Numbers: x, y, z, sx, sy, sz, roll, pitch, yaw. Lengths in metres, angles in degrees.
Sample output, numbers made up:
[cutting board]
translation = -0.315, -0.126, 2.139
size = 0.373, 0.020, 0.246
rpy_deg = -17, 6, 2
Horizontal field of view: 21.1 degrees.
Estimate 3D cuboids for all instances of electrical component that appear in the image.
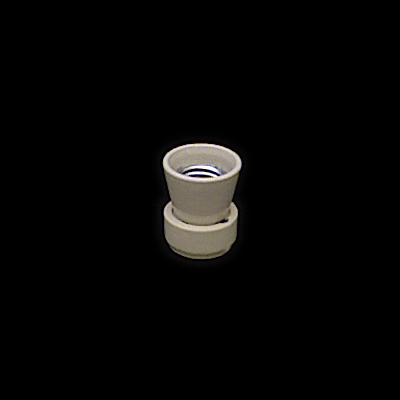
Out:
[electrical component]
translation = 0.000, 0.000, 0.637
size = 0.045, 0.056, 0.044
rpy_deg = 1, 31, -1
